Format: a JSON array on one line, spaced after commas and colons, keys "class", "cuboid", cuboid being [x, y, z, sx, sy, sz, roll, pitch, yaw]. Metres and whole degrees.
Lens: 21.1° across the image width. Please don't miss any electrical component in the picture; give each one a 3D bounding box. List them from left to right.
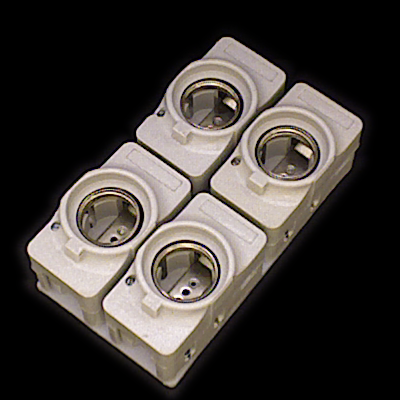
[{"class": "electrical component", "cuboid": [0.000, 0.000, 0.625, 0.105, 0.187, 0.060, 35, -22, 16]}]
